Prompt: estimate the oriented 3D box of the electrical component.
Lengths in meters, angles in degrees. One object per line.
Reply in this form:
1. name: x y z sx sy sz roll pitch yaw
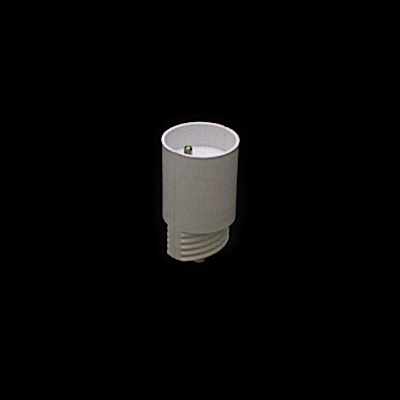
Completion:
1. electrical component: 0.000 0.000 0.626 0.043 0.082 0.042 0 31 0
